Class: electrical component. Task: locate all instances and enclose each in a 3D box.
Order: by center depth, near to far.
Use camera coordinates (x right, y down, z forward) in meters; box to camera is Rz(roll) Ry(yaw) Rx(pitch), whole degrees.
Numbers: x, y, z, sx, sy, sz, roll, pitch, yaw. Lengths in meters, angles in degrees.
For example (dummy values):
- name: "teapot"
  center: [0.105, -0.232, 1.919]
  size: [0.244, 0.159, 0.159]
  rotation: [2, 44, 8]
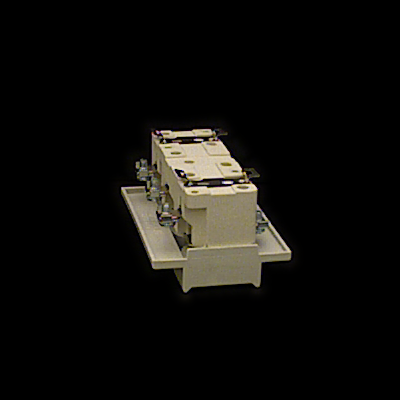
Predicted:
- name: "electrical component"
  center: [0.000, 0.000, 0.647]
  size: [0.079, 0.064, 0.119]
  rotation: [-3, 22, -12]
